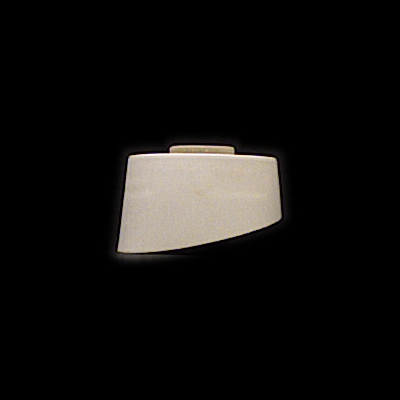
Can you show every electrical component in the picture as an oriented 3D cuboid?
[{"bbox_3d":[0.000,0.000,0.651,0.099,0.064,0.099,1,0,0],"label":"electrical component"}]
